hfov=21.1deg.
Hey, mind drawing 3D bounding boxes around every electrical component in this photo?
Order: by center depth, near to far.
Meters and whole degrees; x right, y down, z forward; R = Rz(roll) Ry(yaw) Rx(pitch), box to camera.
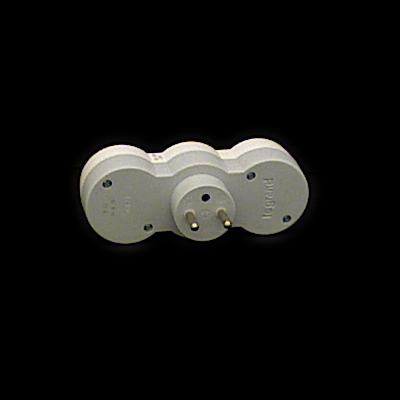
[{"bbox_3d":[0.000,0.000,0.644,0.139,0.053,0.072,-3,24,-12],"label":"electrical component"}]
